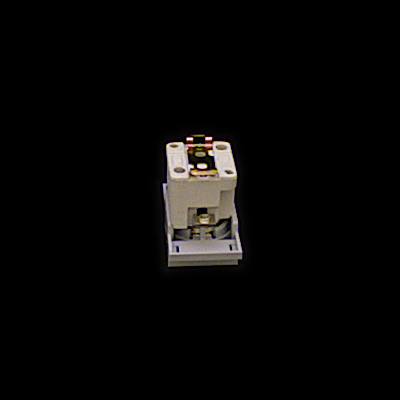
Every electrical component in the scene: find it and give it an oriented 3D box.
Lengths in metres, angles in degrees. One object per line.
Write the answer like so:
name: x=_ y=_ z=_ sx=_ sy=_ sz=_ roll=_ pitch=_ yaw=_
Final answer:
electrical component: x=0.000 y=0.000 z=0.633 sx=0.042 sy=0.064 sz=0.079 roll=-2 pitch=31 yaw=-5
